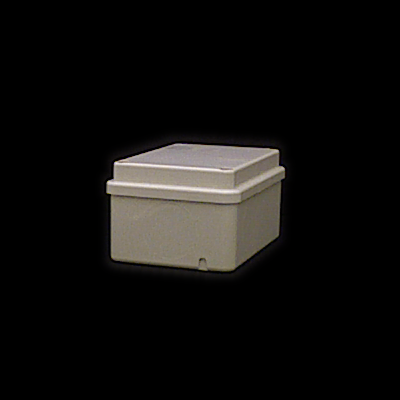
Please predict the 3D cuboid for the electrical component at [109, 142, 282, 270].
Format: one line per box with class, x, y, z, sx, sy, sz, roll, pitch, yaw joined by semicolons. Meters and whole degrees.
electrical component;0.000;0.000;0.644;0.078;0.057;0.112;5;11;18
